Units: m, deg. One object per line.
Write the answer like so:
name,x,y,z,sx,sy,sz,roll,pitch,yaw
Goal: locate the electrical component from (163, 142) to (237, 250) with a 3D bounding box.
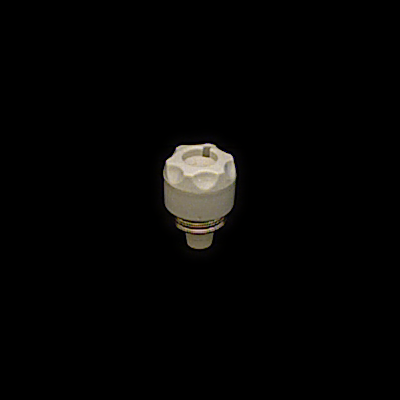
electrical component,0.000,0.000,0.640,0.043,0.063,0.043,1,33,0
